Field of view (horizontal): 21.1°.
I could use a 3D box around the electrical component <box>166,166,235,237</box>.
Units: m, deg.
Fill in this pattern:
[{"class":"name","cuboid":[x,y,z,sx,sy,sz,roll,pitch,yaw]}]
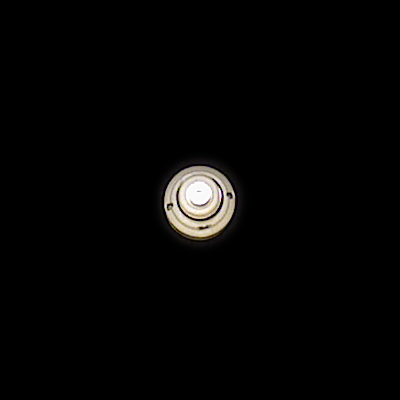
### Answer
[{"class":"electrical component","cuboid":[0.000,0.000,0.618,0.040,0.040,0.078,0,-7,-1]}]
